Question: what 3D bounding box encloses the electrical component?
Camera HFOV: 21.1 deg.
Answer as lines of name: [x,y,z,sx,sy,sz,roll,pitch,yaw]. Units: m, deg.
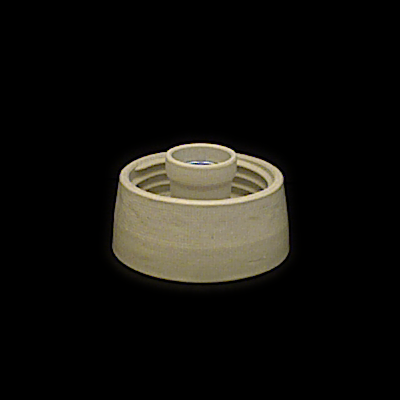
electrical component: [0.000,0.000,0.647,0.108,0.061,0.106,1,21,0]
